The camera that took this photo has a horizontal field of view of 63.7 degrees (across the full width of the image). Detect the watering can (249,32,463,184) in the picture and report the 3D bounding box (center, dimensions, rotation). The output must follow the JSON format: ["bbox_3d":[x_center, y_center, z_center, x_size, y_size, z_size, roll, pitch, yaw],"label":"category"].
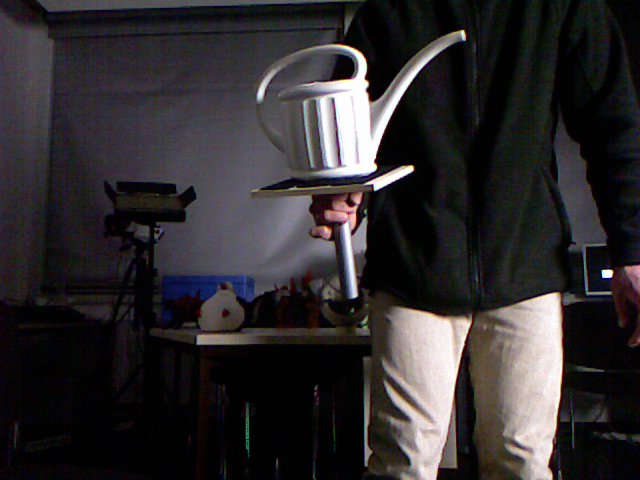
[{"bbox_3d":[0.047,-0.191,0.789,0.347,0.222,0.106,-1,19,25],"label":"watering can"}]
